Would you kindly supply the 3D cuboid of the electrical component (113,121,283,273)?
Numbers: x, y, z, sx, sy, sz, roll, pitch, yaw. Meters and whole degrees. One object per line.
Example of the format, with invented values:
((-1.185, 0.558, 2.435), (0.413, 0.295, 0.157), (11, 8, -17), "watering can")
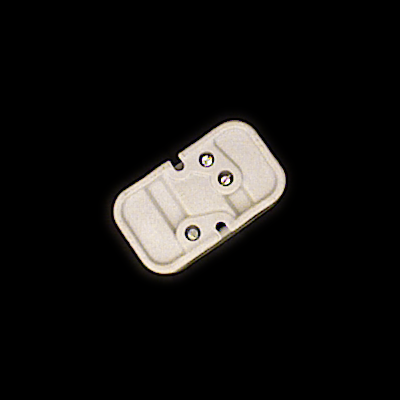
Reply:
((0.000, 0.000, 0.636), (0.095, 0.054, 0.059), (-35, -5, -3), "electrical component")
